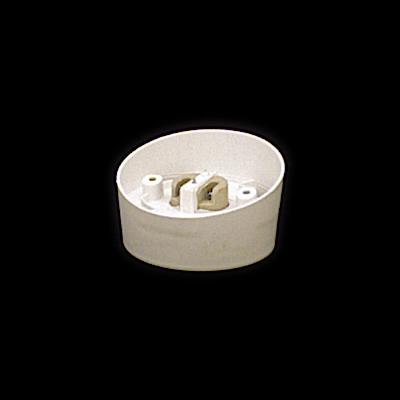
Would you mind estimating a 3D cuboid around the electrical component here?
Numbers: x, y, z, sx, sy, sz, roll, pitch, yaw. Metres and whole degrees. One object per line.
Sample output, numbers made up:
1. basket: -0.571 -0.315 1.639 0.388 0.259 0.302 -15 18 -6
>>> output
1. electrical component: 0.000 0.000 0.639 0.099 0.065 0.097 1 20 0
